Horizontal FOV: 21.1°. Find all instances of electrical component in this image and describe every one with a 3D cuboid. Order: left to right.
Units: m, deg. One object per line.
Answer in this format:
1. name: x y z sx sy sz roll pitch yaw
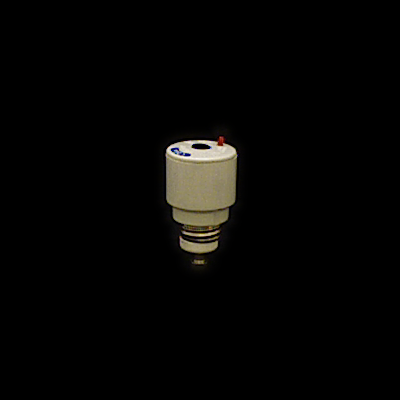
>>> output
1. electrical component: 0.000 0.000 0.636 0.040 0.079 0.039 1 21 0
